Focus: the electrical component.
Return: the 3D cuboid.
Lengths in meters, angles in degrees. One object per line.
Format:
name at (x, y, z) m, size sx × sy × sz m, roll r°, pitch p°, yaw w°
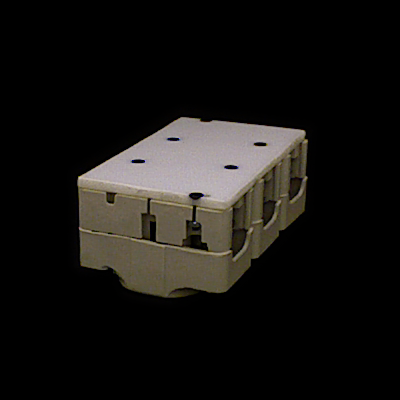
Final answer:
electrical component at (0.000, 0.000, 0.648) m, size 0.089 × 0.063 × 0.148 m, roll 9°, pitch 21°, yaw 20°
